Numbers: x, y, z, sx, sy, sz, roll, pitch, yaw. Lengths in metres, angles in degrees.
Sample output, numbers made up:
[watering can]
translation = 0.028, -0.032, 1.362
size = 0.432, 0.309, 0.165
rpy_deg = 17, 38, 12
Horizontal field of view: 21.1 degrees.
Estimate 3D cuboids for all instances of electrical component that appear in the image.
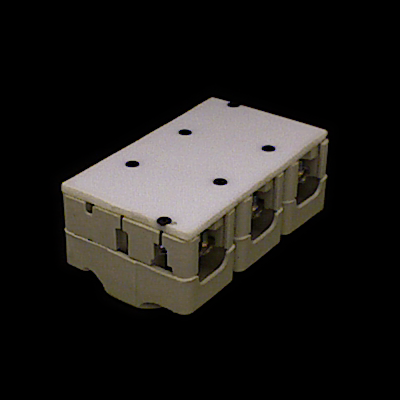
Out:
[electrical component]
translation = 0.000, 0.000, 0.643
size = 0.088, 0.063, 0.148
rpy_deg = 21, 36, 30
